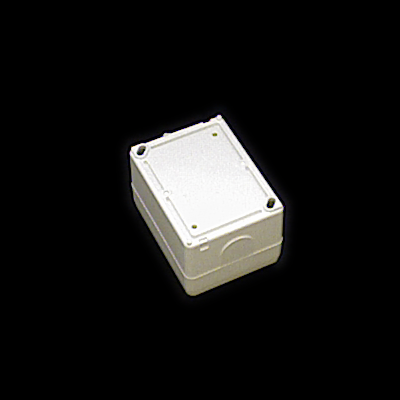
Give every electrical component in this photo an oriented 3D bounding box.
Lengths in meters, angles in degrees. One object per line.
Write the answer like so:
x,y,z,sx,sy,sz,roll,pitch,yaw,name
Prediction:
0.000,0.000,0.631,0.062,0.095,0.061,-22,-34,-16,electrical component
